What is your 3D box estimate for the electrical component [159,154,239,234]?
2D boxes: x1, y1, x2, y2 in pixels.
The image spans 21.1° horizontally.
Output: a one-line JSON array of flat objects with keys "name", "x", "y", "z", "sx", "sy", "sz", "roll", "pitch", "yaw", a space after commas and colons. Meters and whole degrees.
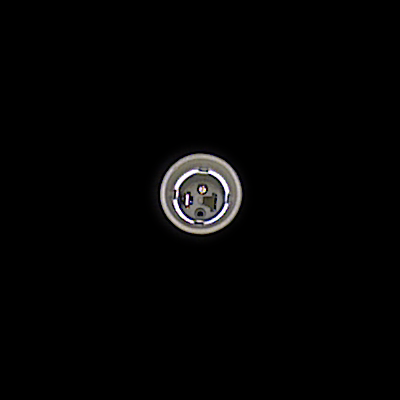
[{"name": "electrical component", "x": 0.000, "y": 0.000, "z": 0.625, "sx": 0.044, "sy": 0.044, "sz": 0.065, "roll": 0, "pitch": -7, "yaw": 1}]
